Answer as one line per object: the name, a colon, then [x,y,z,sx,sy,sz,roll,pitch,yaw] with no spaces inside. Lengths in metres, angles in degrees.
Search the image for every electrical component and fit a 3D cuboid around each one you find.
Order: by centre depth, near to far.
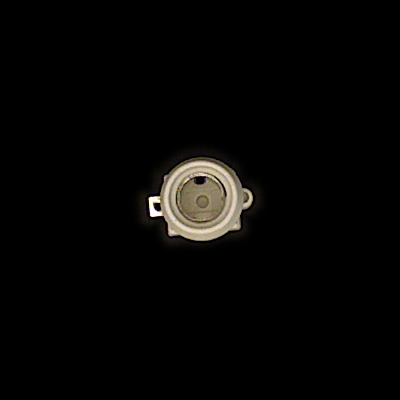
electrical component: [0.000,0.000,0.639,0.066,0.048,0.055,-7,-8,0]
